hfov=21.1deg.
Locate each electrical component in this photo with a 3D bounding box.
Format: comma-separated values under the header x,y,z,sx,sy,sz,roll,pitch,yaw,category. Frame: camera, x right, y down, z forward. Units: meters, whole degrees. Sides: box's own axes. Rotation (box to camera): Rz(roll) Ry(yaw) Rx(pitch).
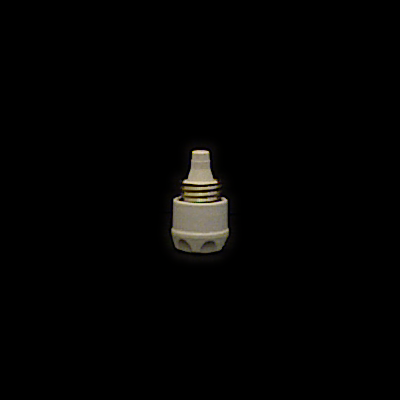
x,y,z,sx,sy,sz,roll,pitch,yaw,category
0.000,0.000,0.655,0.035,0.062,0.035,1,10,0,electrical component
